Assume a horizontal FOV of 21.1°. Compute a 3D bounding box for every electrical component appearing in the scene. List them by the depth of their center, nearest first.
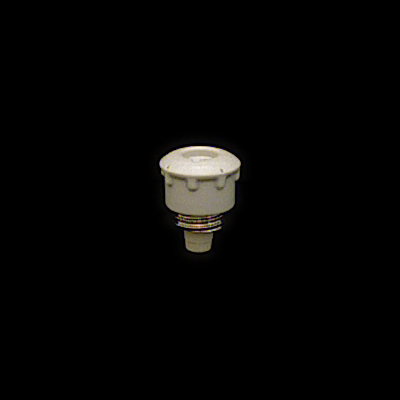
[{"bbox_3d":[0.000,0.000,0.645,0.048,0.062,0.047,1,22,0],"label":"electrical component"}]
